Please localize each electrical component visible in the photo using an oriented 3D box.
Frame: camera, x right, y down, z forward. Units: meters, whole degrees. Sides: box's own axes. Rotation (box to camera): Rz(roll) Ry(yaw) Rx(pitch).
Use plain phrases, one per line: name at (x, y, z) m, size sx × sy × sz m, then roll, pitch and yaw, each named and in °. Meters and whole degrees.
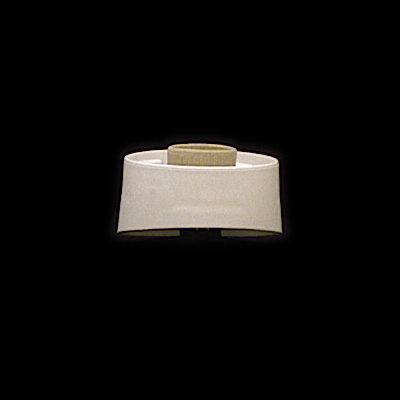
electrical component at (0.000, 0.000, 0.643) m, size 0.099 × 0.064 × 0.098 m, roll 1°, pitch 10°, yaw 0°
